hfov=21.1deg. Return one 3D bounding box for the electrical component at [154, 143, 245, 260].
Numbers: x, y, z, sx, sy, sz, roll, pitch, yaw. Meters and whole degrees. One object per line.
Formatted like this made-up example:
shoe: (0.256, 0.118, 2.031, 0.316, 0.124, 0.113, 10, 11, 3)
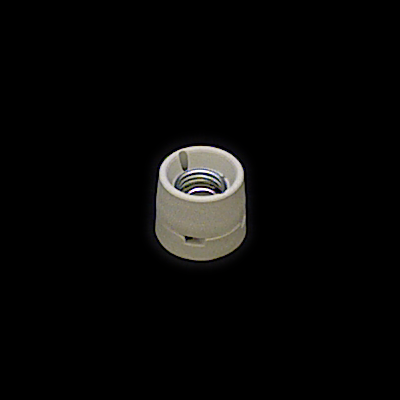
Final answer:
electrical component: (0.000, 0.000, 0.635, 0.055, 0.047, 0.055, 1, 43, 0)
